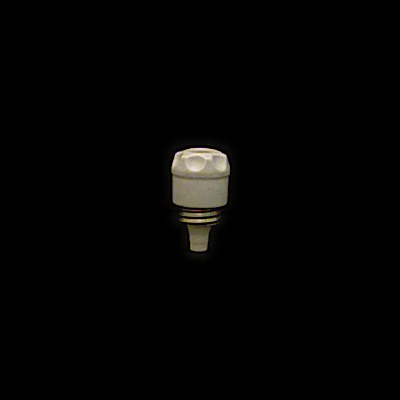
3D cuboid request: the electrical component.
[{"bbox_3d":[0.000,0.000,0.649,0.035,0.062,0.035,1,12,0],"label":"electrical component"}]
